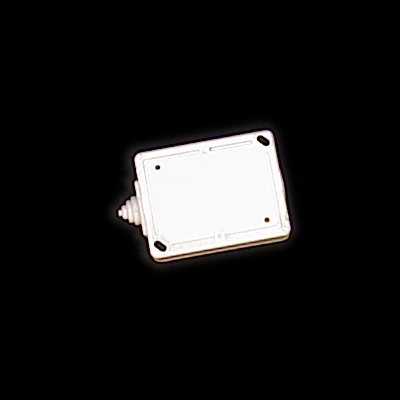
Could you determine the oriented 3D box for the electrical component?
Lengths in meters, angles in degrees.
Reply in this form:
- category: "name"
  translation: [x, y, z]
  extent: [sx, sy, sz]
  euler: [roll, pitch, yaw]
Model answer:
- category: "electrical component"
  translation: [0.000, 0.000, 0.630]
  extent: [0.096, 0.062, 0.061]
  euler: [-10, -7, 0]
